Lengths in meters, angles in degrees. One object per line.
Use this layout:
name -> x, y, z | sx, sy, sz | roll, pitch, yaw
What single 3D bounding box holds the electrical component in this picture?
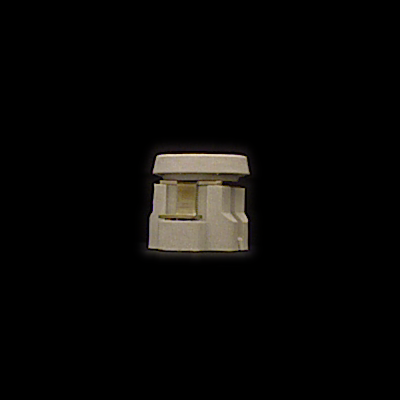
electrical component -> 0.000, 0.000, 0.648 | 0.058, 0.057, 0.078 | 2, 0, 20
